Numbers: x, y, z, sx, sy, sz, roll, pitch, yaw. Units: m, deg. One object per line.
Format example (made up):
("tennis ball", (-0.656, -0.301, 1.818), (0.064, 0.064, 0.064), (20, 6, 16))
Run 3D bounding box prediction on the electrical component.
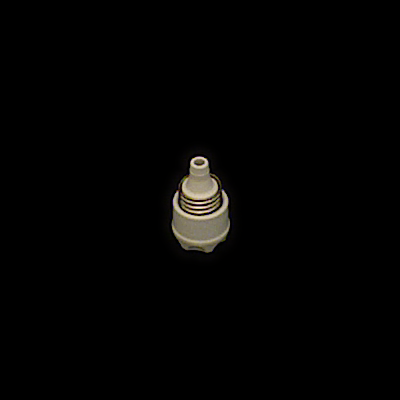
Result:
("electrical component", (0.000, 0.000, 0.641), (0.035, 0.062, 0.035), (-1, 41, 1))
